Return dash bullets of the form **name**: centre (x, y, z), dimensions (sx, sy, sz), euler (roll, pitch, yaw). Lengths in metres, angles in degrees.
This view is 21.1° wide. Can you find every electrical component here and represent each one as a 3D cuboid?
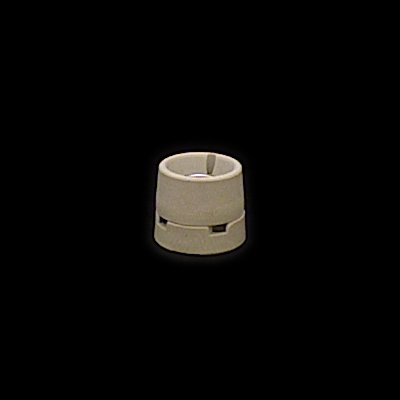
- **electrical component**: centre (0.000, 0.000, 0.640), dimensions (0.055, 0.047, 0.055), euler (0, 22, 0)
